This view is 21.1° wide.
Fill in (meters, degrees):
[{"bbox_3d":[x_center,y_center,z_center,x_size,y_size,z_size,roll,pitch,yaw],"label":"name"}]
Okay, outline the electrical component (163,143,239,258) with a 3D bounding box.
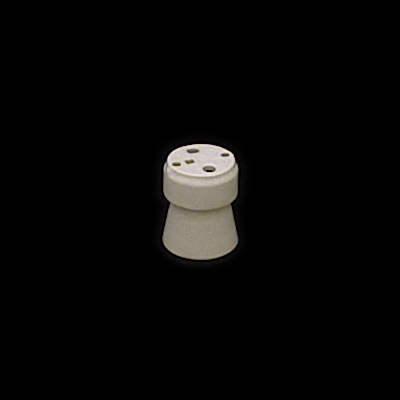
[{"bbox_3d":[0.000,0.000,0.636,0.045,0.056,0.044,1,31,0],"label":"electrical component"}]
